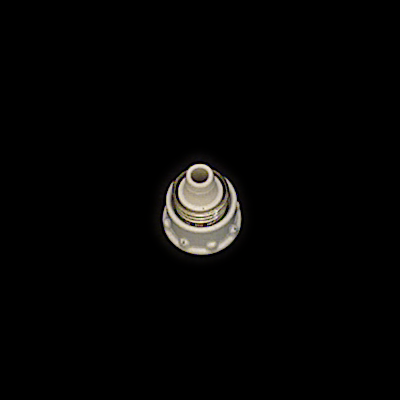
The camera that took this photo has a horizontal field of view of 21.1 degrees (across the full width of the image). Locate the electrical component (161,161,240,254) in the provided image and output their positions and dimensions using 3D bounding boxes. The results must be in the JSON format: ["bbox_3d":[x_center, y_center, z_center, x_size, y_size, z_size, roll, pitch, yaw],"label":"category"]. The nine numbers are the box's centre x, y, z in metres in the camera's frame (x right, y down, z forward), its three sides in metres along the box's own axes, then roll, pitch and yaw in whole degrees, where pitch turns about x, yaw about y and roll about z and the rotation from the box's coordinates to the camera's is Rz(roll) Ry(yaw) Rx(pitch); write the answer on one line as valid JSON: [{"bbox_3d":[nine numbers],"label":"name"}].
[{"bbox_3d":[0.000,0.000,0.634,0.048,0.048,0.062,0,-28,1],"label":"electrical component"}]
